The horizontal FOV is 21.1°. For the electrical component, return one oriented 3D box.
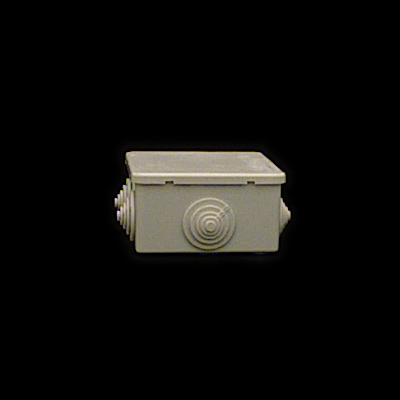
[{"bbox_3d":[0.000,0.000,0.652,0.100,0.049,0.099,0,11,-7],"label":"electrical component"}]
